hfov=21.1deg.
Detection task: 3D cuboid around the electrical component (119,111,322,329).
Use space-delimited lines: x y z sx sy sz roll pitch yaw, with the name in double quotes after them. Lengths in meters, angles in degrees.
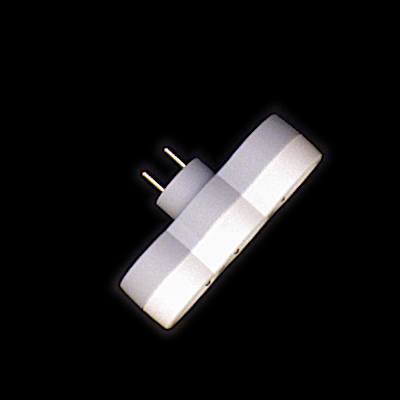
0.000 0.000 0.631 0.074 0.138 0.052 41 -4 6 "electrical component"
